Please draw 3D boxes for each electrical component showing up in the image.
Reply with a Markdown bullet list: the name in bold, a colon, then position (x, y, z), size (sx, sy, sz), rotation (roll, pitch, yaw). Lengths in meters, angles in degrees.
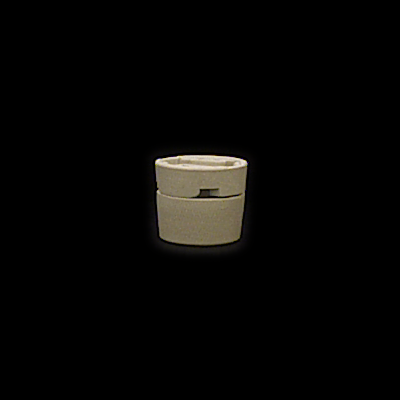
- **electrical component**: position (0.000, 0.000, 0.646), size (0.055, 0.047, 0.055), rotation (2, 11, 0)
